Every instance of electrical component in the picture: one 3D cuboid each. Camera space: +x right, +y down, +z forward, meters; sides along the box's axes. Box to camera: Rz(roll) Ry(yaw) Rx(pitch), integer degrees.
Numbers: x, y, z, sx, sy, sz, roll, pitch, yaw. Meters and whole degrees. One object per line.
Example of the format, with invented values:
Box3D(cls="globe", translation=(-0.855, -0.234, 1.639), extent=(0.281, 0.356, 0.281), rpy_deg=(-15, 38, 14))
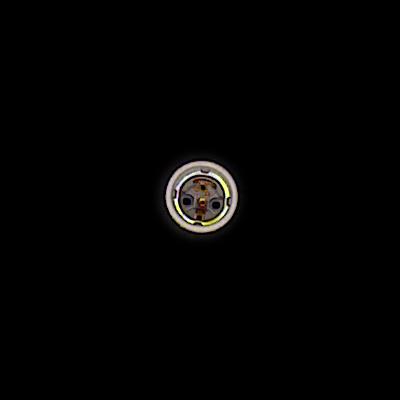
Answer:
Box3D(cls="electrical component", translation=(0.000, 0.000, 0.627), extent=(0.040, 0.040, 0.046), rpy_deg=(0, -6, 0))
